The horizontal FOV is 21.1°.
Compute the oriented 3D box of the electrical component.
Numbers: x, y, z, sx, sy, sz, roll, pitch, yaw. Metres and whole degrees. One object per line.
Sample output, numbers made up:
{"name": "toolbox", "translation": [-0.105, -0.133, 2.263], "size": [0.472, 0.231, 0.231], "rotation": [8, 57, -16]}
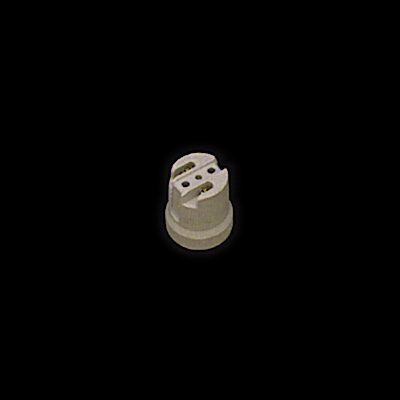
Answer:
{"name": "electrical component", "translation": [0.000, 0.000, 0.634], "size": [0.040, 0.040, 0.046], "rotation": [0, -38, -1]}
